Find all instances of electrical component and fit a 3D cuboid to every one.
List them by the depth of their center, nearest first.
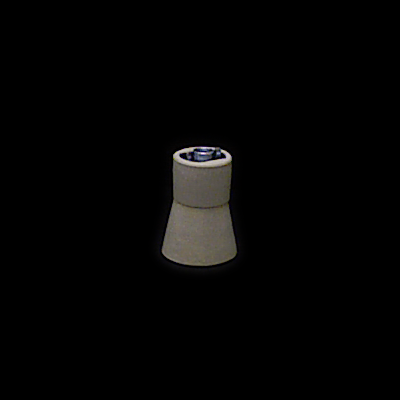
[{"bbox_3d":[0.000,0.000,0.636,0.044,0.066,0.044,2,22,0],"label":"electrical component"}]
